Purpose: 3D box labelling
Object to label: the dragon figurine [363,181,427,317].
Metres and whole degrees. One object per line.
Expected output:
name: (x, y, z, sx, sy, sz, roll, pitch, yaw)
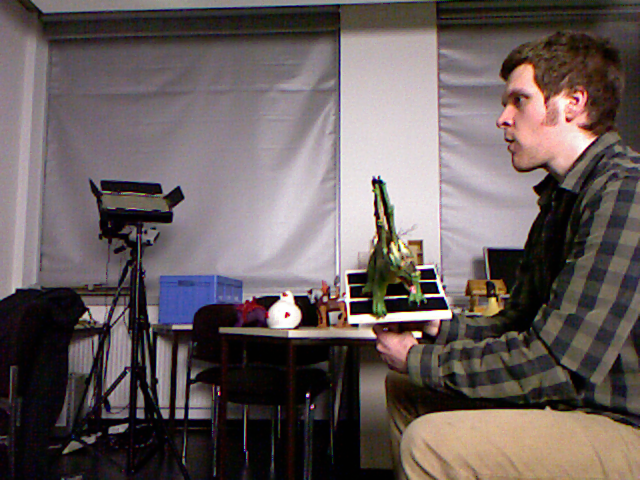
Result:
dragon figurine: (0.138, -0.007, 1.048, 0.122, 0.238, 0.420, -8, 30, -3)
